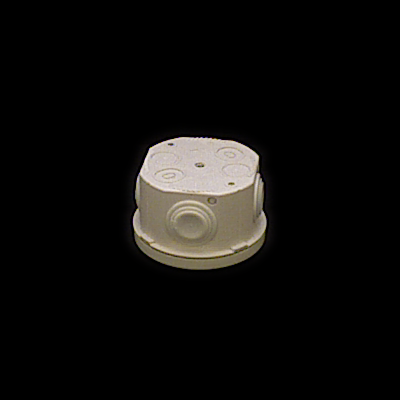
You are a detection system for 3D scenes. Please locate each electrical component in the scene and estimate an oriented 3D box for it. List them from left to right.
[{"bbox_3d":[0.000,0.000,0.638,0.080,0.051,0.079,0,31,0],"label":"electrical component"}]
